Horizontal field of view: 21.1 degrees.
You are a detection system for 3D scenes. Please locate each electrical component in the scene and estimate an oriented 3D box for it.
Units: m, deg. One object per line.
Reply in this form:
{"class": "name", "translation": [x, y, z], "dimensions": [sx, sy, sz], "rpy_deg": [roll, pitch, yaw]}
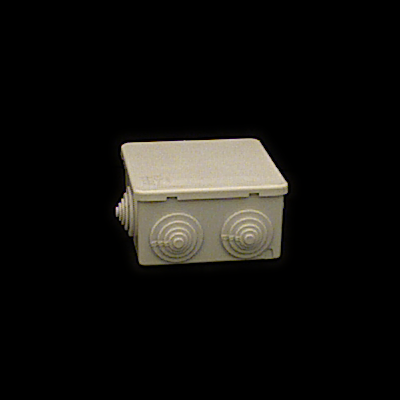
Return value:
{"class": "electrical component", "translation": [0.000, 0.000, 0.646], "dimensions": [0.100, 0.049, 0.098], "rpy_deg": [-2, 22, -9]}
